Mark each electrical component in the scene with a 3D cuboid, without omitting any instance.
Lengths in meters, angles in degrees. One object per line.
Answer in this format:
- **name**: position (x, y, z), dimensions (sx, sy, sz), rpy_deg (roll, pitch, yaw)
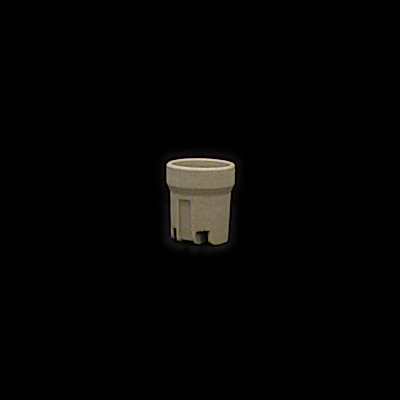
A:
- **electrical component**: position (0.000, 0.000, 0.642), dimensions (0.040, 0.046, 0.040), rpy_deg (1, 11, 0)
